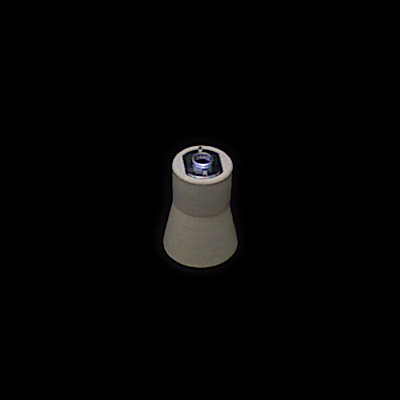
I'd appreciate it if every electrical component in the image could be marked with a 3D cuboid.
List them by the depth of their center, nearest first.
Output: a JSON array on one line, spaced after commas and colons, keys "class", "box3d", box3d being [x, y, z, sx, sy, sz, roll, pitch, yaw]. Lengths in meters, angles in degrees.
[{"class": "electrical component", "box3d": [0.000, 0.000, 0.629, 0.044, 0.066, 0.044, 1, 41, -1]}]
